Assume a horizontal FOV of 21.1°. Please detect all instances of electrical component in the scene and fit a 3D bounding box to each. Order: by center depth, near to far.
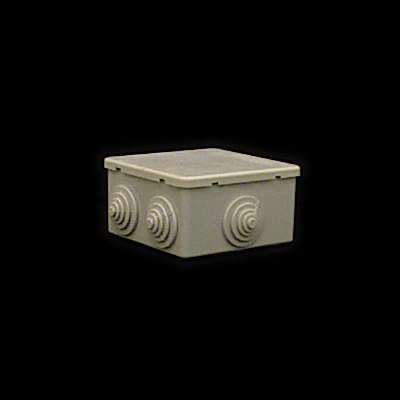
[{"bbox_3d":[0.000,0.000,0.653,0.100,0.049,0.098,-7,14,-36],"label":"electrical component"}]
